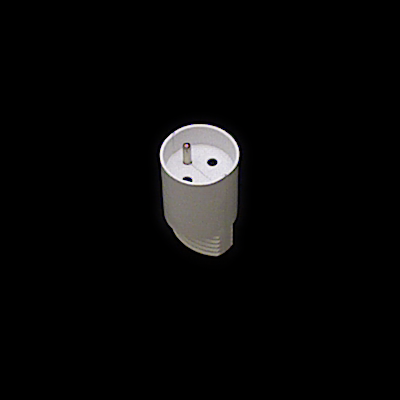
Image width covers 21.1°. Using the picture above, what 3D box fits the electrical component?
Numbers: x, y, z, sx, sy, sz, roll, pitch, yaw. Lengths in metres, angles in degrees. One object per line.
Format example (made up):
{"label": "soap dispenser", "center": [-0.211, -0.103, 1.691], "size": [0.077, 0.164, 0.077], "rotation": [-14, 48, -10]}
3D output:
{"label": "electrical component", "center": [0.000, 0.000, 0.619], "size": [0.043, 0.043, 0.081], "rotation": [0, -39, 0]}
